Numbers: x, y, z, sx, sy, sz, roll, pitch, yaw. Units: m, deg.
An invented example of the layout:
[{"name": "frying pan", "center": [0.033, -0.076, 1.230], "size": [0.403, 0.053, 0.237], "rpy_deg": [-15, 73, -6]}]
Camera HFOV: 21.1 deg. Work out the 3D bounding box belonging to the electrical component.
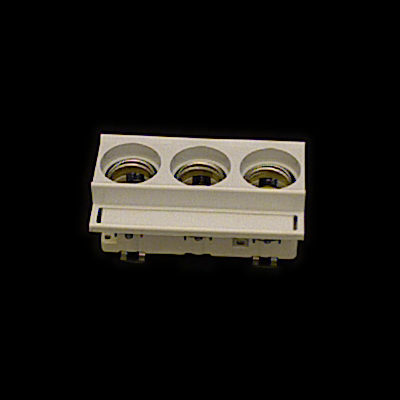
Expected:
[{"name": "electrical component", "center": [0.000, 0.000, 0.641], "size": [0.121, 0.063, 0.077], "rpy_deg": [3, 44, 2]}]
